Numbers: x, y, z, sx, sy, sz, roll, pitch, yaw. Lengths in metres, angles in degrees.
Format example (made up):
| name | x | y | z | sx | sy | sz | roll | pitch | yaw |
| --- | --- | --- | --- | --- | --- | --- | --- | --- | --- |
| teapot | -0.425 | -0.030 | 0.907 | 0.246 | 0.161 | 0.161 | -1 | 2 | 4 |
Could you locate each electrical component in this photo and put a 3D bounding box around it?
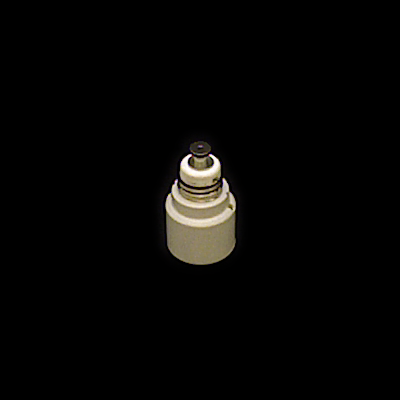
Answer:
| name | x | y | z | sx | sy | sz | roll | pitch | yaw |
| --- | --- | --- | --- | --- | --- | --- | --- | --- | --- |
| electrical component | 0.000 | 0.000 | 0.624 | 0.040 | 0.079 | 0.039 | 0 | 42 | 1 |
